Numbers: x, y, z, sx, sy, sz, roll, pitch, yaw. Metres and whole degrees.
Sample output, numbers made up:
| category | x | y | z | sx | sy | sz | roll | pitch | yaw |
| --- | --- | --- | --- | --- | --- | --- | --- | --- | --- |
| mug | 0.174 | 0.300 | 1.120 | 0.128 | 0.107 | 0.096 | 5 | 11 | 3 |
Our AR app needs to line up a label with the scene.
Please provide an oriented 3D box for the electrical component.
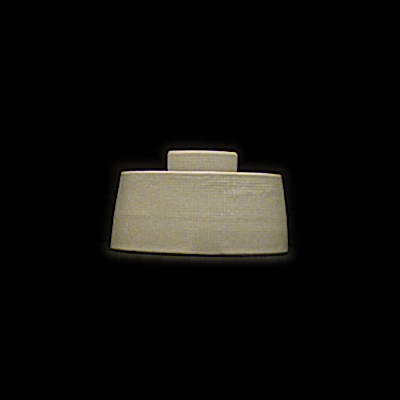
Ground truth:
| category | x | y | z | sx | sy | sz | roll | pitch | yaw |
| --- | --- | --- | --- | --- | --- | --- | --- | --- | --- |
| electrical component | 0.000 | 0.000 | 0.655 | 0.108 | 0.060 | 0.108 | 1 | 1 | 0 |
